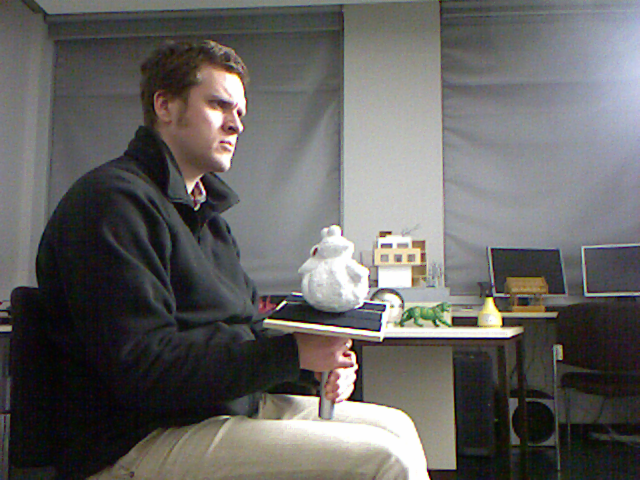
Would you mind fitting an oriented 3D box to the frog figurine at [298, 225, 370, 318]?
[{"bbox_3d":[0.028,0.056,0.947,0.138,0.158,0.124,11,15,31],"label":"frog figurine"}]
